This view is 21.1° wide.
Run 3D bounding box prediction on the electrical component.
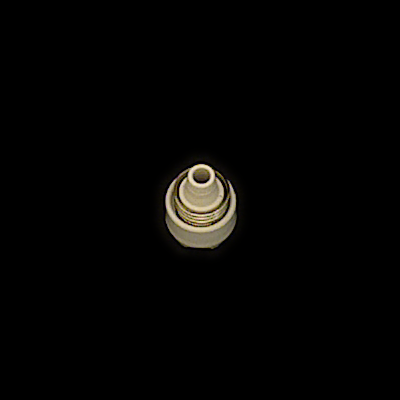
[{"bbox_3d":[0.000,0.000,0.634,0.043,0.043,0.062,0,-28,-1],"label":"electrical component"}]
